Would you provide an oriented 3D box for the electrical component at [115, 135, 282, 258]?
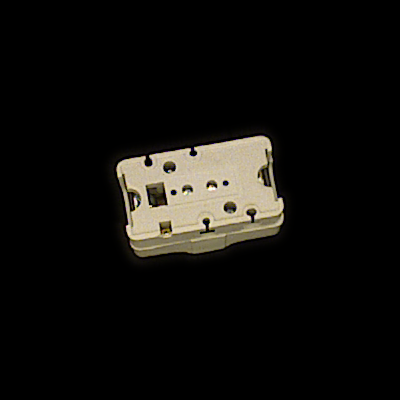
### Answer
[{"bbox_3d":[0.000,0.000,0.636,0.090,0.050,0.055,-10,-15,-2],"label":"electrical component"}]
